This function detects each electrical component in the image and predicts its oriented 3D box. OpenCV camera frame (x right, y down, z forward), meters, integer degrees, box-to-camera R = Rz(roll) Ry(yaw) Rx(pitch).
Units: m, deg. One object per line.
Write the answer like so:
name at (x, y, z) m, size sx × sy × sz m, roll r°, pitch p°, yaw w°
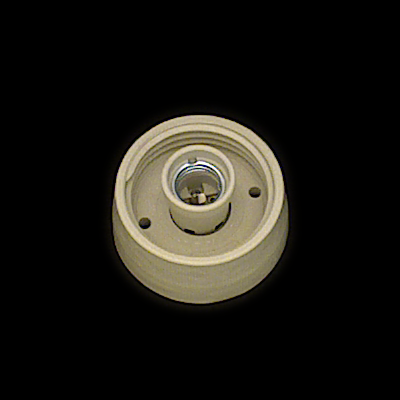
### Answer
electrical component at (0.000, 0.000, 0.634) m, size 0.108 × 0.108 × 0.060 m, roll 0°, pitch -26°, yaw 0°
